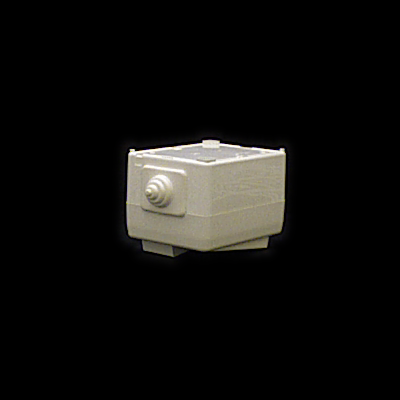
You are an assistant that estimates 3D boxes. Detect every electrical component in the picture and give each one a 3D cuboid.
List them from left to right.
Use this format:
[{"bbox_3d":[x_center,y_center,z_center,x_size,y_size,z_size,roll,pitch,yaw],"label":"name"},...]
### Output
[{"bbox_3d":[0.000,0.000,0.637,0.061,0.061,0.096,10,13,37],"label":"electrical component"}]
